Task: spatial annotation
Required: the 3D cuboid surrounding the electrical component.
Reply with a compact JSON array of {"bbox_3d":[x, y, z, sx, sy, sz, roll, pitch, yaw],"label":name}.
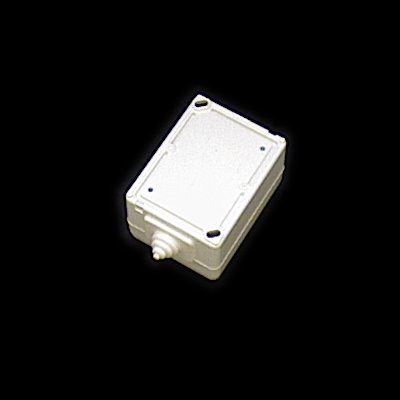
[{"bbox_3d":[0.000,0.000,0.622,0.062,0.097,0.060,28,-24,13],"label":"electrical component"}]
